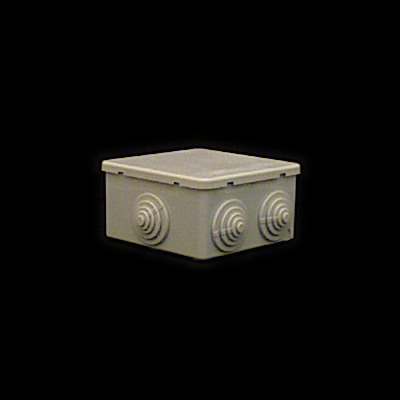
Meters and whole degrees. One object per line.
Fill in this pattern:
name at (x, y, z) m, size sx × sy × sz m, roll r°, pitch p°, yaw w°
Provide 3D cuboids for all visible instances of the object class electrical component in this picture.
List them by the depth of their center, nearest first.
electrical component at (0.000, 0.000, 0.651) m, size 0.098 × 0.049 × 0.100 m, roll 12°, pitch 15°, yaw 42°
